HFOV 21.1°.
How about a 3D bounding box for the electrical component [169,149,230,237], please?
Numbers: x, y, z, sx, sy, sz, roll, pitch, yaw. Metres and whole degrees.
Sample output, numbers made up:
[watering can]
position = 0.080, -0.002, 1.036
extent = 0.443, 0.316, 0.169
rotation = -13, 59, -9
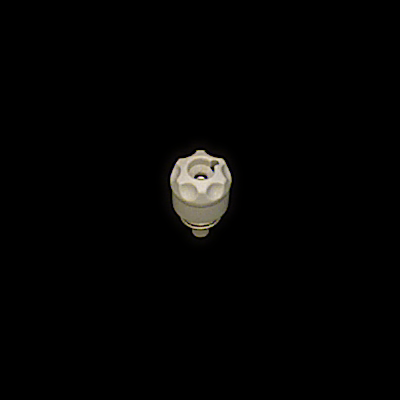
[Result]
[electrical component]
position = 0.000, 0.000, 0.635
extent = 0.035, 0.035, 0.062
rotation = 0, -37, 0
